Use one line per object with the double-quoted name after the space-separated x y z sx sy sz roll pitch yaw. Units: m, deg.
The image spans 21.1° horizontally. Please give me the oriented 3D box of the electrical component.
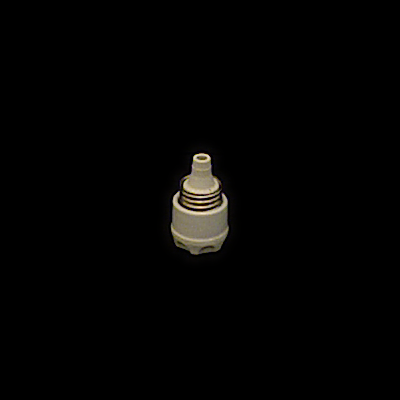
0.000 0.000 0.648 0.035 0.062 0.034 2 33 -1 "electrical component"
